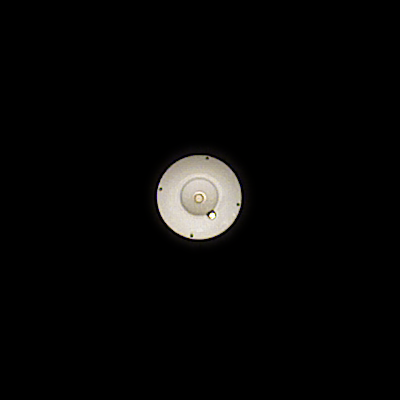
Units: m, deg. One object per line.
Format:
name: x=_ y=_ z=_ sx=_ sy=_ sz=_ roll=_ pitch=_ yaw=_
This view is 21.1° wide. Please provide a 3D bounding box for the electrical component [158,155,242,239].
electrical component: x=0.000 y=0.000 z=0.635 sx=0.048 sy=0.048 sz=0.062 roll=0 pitch=-6 yaw=1
